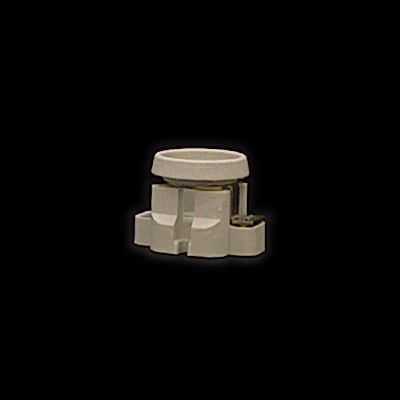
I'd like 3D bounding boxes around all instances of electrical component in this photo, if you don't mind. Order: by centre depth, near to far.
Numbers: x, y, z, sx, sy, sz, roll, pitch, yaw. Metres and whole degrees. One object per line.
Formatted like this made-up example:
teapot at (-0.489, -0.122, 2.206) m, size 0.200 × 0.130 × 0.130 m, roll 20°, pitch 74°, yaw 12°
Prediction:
electrical component at (0.000, 0.000, 0.644) m, size 0.078 × 0.057 × 0.057 m, roll 5°, pitch 12°, yaw 21°
